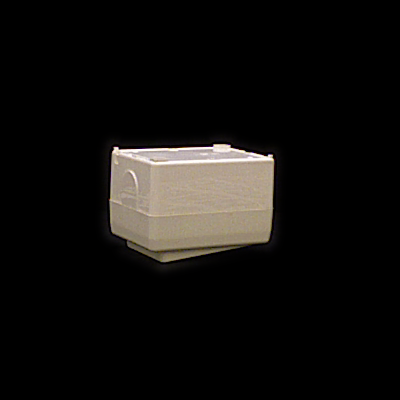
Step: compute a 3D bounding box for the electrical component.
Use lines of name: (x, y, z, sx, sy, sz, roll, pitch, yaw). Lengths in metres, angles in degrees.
electrical component: (0.000, 0.000, 0.643, 0.096, 0.061, 0.061, -4, 12, -28)
